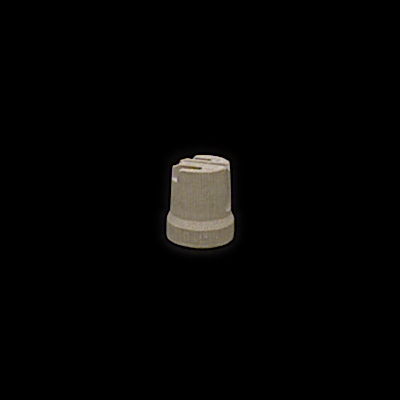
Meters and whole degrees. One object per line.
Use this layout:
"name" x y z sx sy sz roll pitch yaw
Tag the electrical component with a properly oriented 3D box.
"electrical component" 0.000 0.000 0.643 0.040 0.046 0.040 1 21 0
